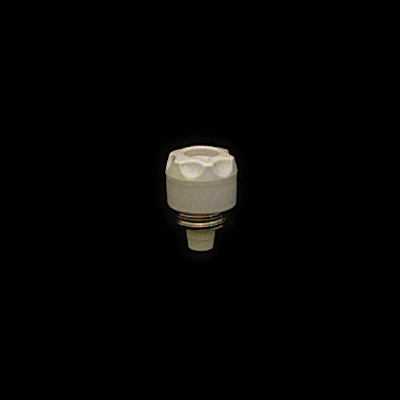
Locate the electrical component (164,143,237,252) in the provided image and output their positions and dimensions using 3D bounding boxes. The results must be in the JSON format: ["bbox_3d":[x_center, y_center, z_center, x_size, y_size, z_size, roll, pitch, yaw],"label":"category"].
[{"bbox_3d":[0.000,0.000,0.646,0.043,0.063,0.043,1,21,0],"label":"electrical component"}]
